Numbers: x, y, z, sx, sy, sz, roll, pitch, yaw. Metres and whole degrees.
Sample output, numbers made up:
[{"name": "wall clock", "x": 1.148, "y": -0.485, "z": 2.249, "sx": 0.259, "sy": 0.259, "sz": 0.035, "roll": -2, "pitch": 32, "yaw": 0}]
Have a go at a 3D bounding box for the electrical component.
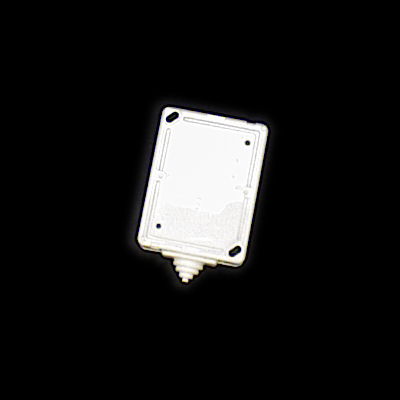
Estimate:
[{"name": "electrical component", "x": -0.001, "y": 0.000, "z": 0.625, "sx": 0.062, "sy": 0.097, "sz": 0.060, "roll": 11, "pitch": -7, "yaw": 1}]
